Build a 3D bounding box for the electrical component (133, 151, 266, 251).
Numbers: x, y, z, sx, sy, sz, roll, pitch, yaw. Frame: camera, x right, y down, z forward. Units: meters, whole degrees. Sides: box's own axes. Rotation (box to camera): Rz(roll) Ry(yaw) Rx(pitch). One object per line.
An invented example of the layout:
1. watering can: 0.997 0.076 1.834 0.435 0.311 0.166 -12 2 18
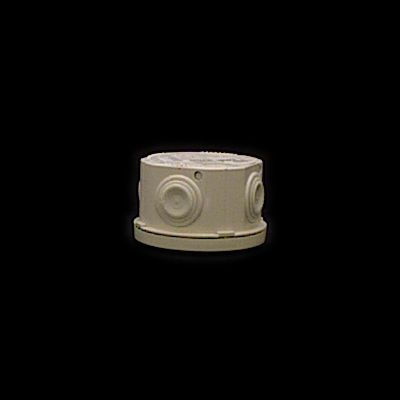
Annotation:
1. electrical component: 0.000 0.000 0.646 0.080 0.051 0.079 2 10 0
